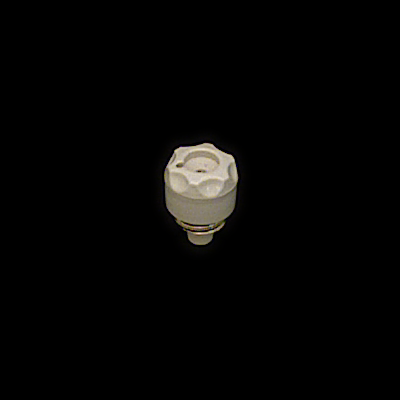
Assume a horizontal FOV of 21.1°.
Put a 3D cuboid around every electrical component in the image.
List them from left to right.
[{"bbox_3d":[0.000,0.000,0.639,0.043,0.062,0.043,1,42,0],"label":"electrical component"}]
